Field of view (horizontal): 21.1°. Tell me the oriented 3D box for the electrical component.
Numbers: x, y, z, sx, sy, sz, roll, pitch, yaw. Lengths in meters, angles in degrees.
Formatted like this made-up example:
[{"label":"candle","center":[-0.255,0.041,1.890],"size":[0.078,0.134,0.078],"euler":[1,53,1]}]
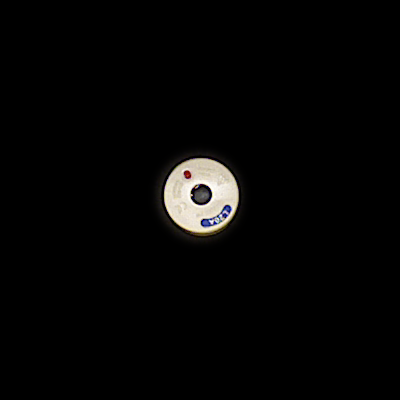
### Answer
[{"label":"electrical component","center":[0.000,0.000,0.618],"size":[0.040,0.040,0.078],"euler":[0,-6,1]}]
